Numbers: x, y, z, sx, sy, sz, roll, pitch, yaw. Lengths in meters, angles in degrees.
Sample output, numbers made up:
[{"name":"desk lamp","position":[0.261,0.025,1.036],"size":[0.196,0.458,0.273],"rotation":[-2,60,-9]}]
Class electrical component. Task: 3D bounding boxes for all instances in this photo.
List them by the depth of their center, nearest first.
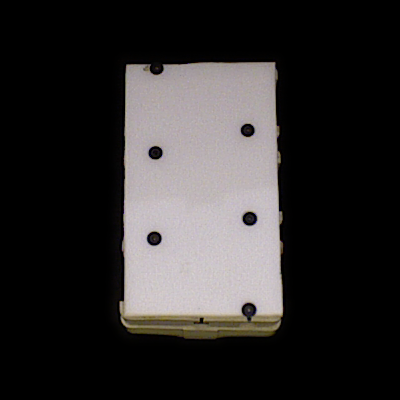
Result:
[{"name":"electrical component","position":[0.000,0.000,0.629],"size":[0.089,0.150,0.062],"rotation":[0,-16,1]}]
